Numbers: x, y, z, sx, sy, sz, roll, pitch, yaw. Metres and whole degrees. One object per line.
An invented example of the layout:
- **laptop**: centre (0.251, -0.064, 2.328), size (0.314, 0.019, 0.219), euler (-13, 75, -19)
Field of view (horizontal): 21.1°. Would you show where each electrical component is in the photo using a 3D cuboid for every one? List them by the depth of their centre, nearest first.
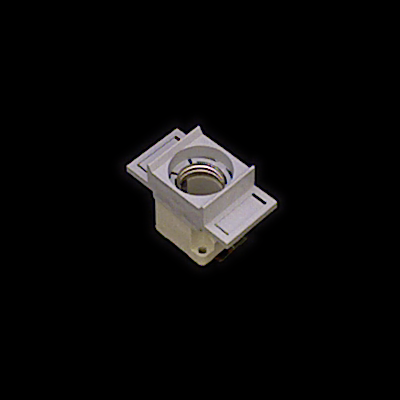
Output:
- **electrical component**: centre (0.000, 0.000, 0.625), size (0.080, 0.064, 0.042), euler (38, 60, 26)
